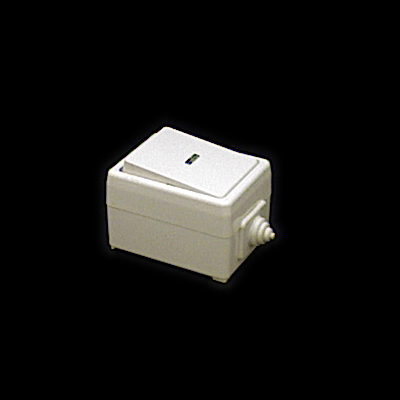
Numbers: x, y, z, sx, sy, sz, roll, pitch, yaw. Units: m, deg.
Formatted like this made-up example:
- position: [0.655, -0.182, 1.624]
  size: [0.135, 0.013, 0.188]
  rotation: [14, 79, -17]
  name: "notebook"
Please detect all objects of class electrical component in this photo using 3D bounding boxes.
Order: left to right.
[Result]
- position: [0.000, 0.000, 0.633]
  size: [0.096, 0.061, 0.061]
  rotation: [15, 34, 22]
  name: "electrical component"
